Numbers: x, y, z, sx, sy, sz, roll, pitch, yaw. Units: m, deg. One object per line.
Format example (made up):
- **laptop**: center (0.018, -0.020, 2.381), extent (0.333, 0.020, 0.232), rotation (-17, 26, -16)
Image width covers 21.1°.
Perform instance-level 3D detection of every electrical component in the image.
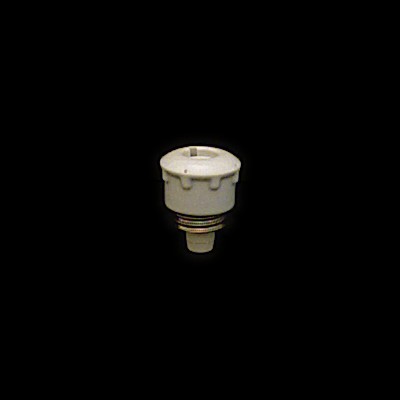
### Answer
- **electrical component**: center (0.000, 0.000, 0.645), extent (0.048, 0.062, 0.047), rotation (1, 21, 0)
